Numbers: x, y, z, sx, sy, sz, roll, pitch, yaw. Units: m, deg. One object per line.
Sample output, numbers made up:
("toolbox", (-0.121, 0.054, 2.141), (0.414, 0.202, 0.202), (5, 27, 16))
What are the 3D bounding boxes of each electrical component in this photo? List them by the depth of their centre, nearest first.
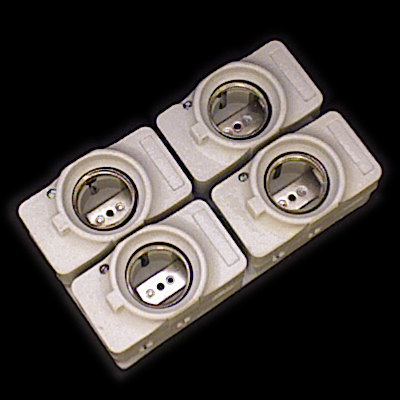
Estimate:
("electrical component", (0.000, 0.000, 0.625), (0.187, 0.106, 0.060), (-34, -14, -9))
